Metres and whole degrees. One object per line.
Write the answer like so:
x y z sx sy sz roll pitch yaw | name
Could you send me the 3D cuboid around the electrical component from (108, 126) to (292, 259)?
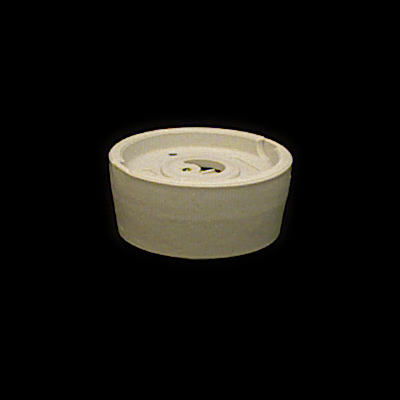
0.000 0.000 0.642 0.108 0.061 0.106 2 21 0 | electrical component
